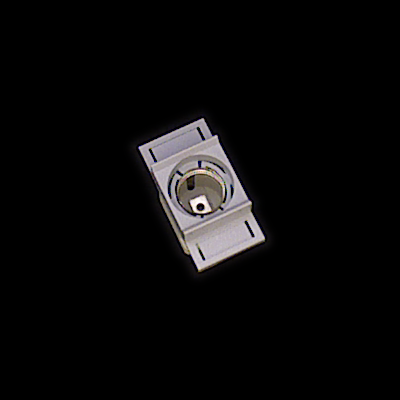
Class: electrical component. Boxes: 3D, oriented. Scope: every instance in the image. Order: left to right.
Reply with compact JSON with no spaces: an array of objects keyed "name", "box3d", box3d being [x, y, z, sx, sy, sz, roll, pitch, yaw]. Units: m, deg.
[{"name":"electrical component","box3d":[0.000,0.000,0.623,0.042,0.081,0.063,-24,-16,-8]}]
